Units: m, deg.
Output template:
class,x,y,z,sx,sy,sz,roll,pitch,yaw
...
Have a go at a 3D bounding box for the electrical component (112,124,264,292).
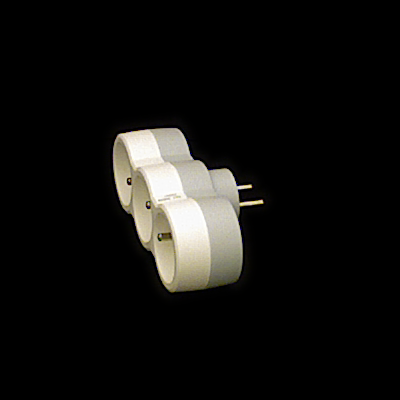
class,x,y,z,sx,sy,sz,roll,pitch,yaw
electrical component,0.000,0.000,0.643,0.074,0.053,0.136,-8,33,-17
